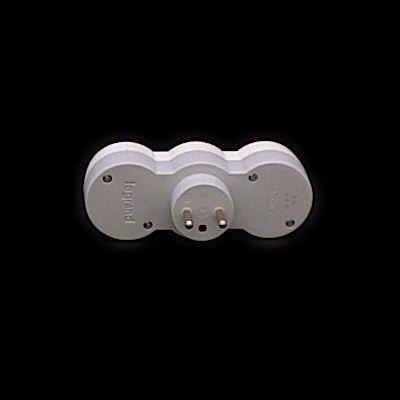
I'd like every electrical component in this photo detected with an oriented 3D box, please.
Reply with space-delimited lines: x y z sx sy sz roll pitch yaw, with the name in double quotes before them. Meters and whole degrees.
"electrical component" 0.000 0.000 0.641 0.138 0.053 0.073 0 23 -6
